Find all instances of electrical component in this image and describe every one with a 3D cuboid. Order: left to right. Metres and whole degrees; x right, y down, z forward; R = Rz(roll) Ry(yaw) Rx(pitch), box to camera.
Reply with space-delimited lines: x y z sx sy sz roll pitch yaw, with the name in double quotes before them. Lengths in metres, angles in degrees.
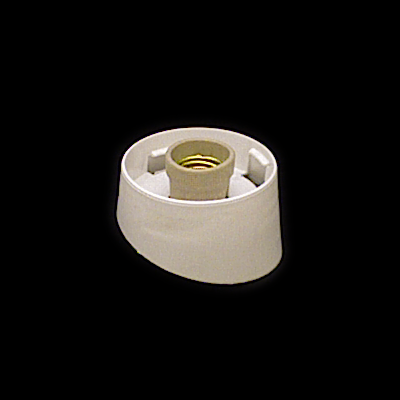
"electrical component" 0.000 0.000 0.633 0.099 0.065 0.097 1 31 0
